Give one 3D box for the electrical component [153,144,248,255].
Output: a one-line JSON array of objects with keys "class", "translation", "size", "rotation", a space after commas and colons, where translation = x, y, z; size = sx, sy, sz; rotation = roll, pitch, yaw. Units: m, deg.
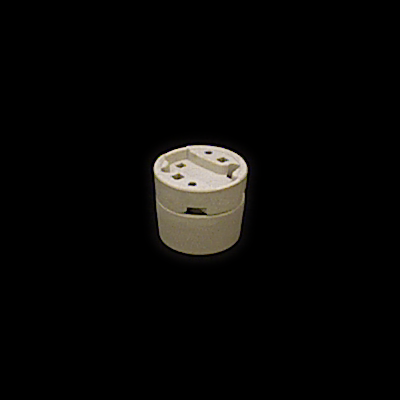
[{"class": "electrical component", "translation": [0.000, 0.000, 0.639], "size": [0.055, 0.047, 0.055], "rotation": [1, 31, 0]}]
